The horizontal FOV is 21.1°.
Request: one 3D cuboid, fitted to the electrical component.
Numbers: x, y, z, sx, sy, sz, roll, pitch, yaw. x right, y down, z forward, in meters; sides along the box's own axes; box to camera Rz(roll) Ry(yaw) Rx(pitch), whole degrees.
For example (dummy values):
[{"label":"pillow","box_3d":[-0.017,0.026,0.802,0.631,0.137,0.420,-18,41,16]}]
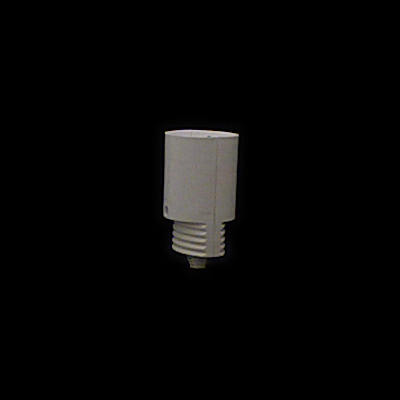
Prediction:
[{"label":"electrical component","box_3d":[0.000,0.000,0.641,0.043,0.082,0.042,1,12,0]}]
